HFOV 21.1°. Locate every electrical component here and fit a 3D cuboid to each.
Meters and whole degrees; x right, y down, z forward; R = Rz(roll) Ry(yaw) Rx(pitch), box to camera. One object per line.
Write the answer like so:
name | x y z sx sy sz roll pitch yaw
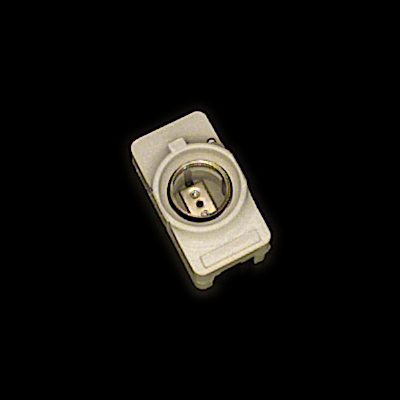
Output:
electrical component | 0.000 0.000 0.636 0.050 0.089 0.055 -27 -14 -7
